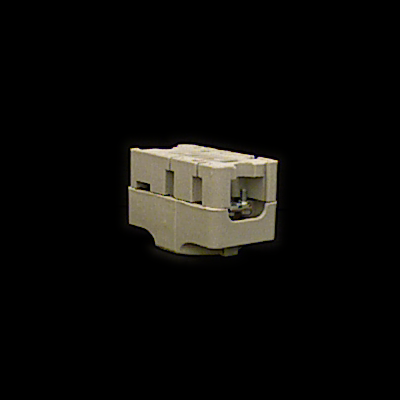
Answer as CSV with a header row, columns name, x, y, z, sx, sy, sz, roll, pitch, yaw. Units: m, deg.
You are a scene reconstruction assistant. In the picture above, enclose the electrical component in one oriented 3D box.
name,x,y,z,sx,sy,sz,roll,pitch,yaw
electrical component,0.000,0.000,0.652,0.050,0.056,0.088,-7,15,-38
